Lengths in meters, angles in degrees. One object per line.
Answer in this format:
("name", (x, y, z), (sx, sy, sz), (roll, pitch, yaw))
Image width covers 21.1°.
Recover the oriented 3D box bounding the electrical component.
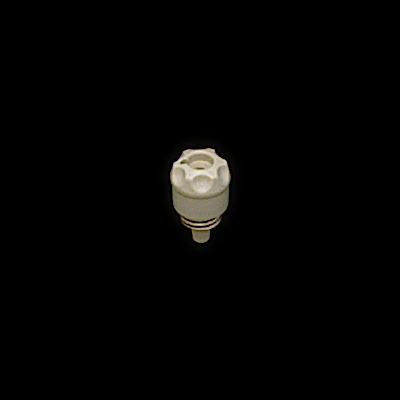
("electrical component", (0.000, 0.000, 0.638), (0.035, 0.062, 0.035), (0, 42, 0))
